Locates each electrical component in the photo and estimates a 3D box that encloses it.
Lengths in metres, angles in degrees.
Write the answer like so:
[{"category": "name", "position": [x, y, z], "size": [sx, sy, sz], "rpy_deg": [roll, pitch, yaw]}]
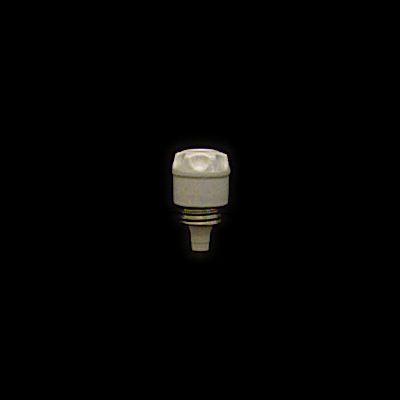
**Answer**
[{"category": "electrical component", "position": [0.000, 0.000, 0.652], "size": [0.035, 0.062, 0.035], "rpy_deg": [1, 12, 0]}]
